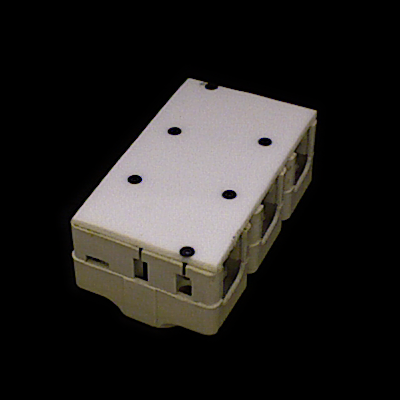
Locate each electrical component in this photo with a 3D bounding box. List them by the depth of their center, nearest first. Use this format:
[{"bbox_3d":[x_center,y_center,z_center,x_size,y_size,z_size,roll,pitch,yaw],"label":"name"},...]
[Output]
[{"bbox_3d":[0.000,0.000,0.634,0.089,0.063,0.148,18,45,19],"label":"electrical component"}]
